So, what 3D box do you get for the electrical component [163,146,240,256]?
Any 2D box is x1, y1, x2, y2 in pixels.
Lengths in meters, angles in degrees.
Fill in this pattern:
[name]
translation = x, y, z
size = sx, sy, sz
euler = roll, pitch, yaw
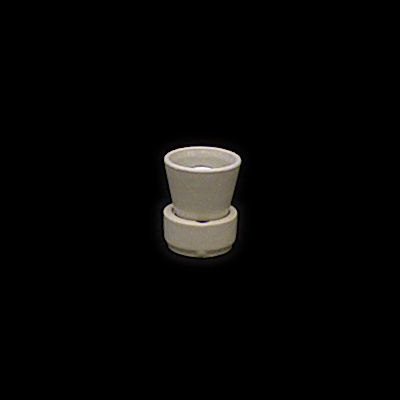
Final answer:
[electrical component]
translation = 0.000, 0.000, 0.641
size = 0.045, 0.056, 0.044
euler = 2, 21, 0
